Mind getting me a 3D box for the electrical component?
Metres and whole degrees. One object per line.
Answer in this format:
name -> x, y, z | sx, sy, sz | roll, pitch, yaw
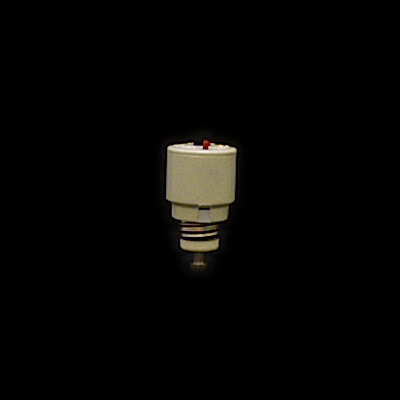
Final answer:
electrical component -> 0.000, 0.000, 0.640 | 0.040, 0.079, 0.040 | 1, 12, 0
